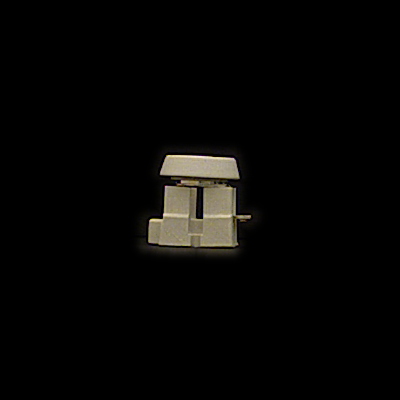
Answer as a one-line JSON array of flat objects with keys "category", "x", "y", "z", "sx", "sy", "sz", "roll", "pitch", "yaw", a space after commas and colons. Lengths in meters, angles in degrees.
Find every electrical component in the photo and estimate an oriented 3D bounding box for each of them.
[{"category": "electrical component", "x": 0.000, "y": 0.000, "z": 0.658, "sx": 0.066, "sy": 0.055, "sz": 0.048, "roll": 1, "pitch": 4, "yaw": 5}]
